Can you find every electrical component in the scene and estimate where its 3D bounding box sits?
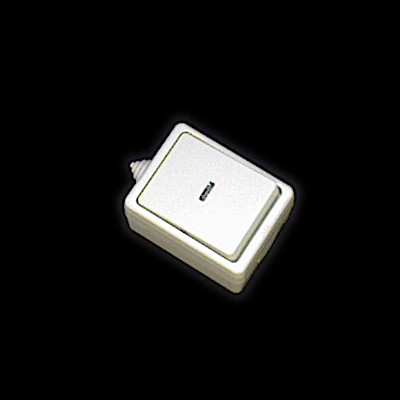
[{"bbox_3d":[0.000,0.000,0.626,0.096,0.062,0.060,31,-15,9],"label":"electrical component"}]
